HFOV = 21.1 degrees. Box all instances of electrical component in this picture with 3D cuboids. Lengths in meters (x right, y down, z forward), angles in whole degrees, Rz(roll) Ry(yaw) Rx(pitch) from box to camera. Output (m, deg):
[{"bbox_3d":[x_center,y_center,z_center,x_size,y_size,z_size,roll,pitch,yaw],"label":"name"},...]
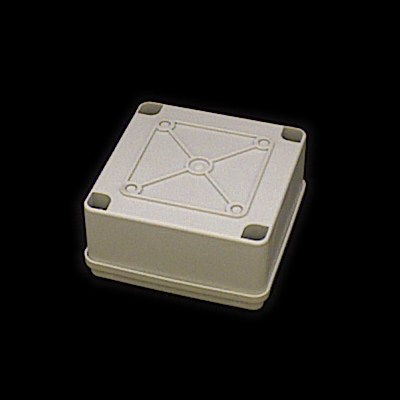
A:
[{"bbox_3d":[0.000,0.000,0.630,0.108,0.056,0.108,11,43,12],"label":"electrical component"}]
